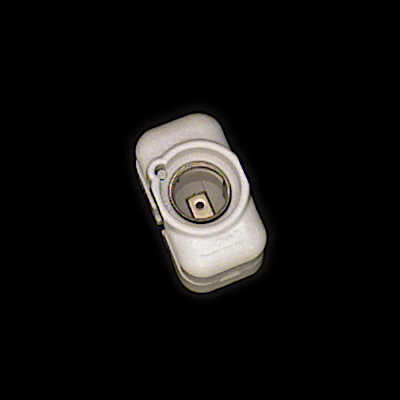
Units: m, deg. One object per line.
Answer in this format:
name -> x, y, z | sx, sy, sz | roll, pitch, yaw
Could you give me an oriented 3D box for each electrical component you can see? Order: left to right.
electrical component -> 0.000, 0.000, 0.634 | 0.054, 0.095, 0.059 | -22, -15, -6
